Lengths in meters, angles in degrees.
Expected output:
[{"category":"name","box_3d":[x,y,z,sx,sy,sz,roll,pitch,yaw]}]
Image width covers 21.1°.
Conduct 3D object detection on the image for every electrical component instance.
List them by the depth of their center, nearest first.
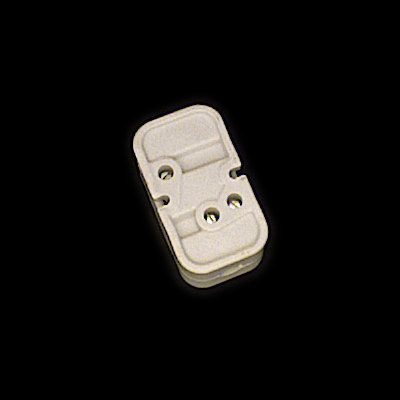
[{"category":"electrical component","box_3d":[0.000,0.000,0.636,0.054,0.095,0.059,-21,-15,-6]}]
